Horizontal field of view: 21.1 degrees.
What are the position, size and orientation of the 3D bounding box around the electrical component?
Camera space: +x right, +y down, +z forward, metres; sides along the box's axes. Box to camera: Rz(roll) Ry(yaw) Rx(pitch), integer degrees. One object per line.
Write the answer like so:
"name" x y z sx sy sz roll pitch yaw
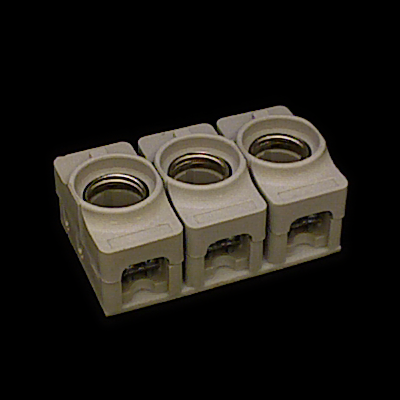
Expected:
"electrical component" 0.000 0.000 0.637 0.150 0.063 0.088 -15 43 -17
